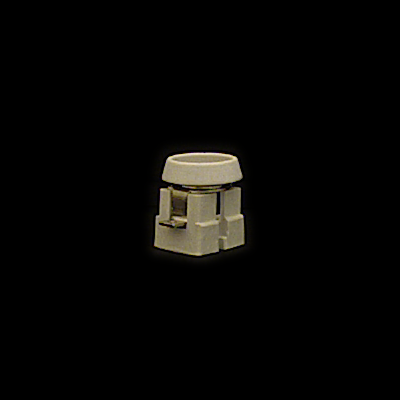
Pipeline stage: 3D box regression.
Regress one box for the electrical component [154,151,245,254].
[{"bbox_3d":[0.000,0.000,0.650,0.048,0.056,0.067,8,13,37],"label":"electrical component"}]
